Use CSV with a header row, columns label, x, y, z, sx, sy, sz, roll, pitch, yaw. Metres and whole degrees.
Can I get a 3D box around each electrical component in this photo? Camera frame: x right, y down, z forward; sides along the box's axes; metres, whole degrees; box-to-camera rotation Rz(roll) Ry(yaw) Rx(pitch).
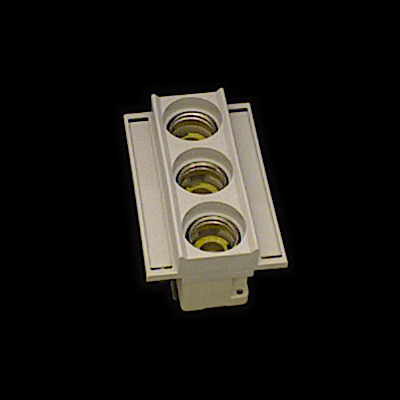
label,x,y,z,sx,sy,sz,roll,pitch,yaw
electrical component,0.000,0.000,0.640,0.079,0.120,0.063,-6,-37,-6
